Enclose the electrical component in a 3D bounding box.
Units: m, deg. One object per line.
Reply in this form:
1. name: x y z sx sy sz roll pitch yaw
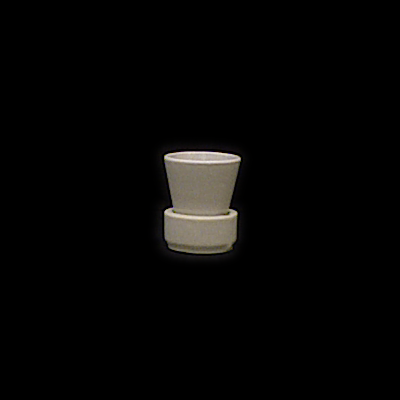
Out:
1. electrical component: 0.000 0.000 0.646 0.045 0.055 0.044 2 11 0
